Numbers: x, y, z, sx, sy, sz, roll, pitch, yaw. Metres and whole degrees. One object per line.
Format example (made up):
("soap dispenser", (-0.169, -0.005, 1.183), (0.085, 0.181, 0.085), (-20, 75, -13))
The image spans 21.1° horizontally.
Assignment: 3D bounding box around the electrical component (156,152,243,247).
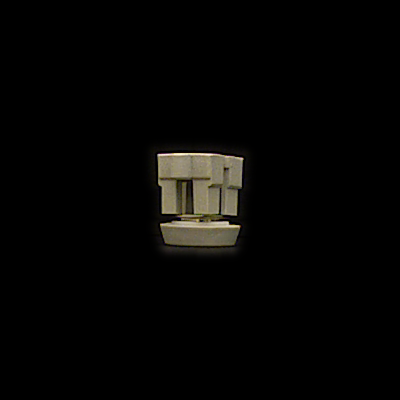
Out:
("electrical component", (0.000, 0.000, 0.655), (0.048, 0.055, 0.067), (1, 0, 29))
